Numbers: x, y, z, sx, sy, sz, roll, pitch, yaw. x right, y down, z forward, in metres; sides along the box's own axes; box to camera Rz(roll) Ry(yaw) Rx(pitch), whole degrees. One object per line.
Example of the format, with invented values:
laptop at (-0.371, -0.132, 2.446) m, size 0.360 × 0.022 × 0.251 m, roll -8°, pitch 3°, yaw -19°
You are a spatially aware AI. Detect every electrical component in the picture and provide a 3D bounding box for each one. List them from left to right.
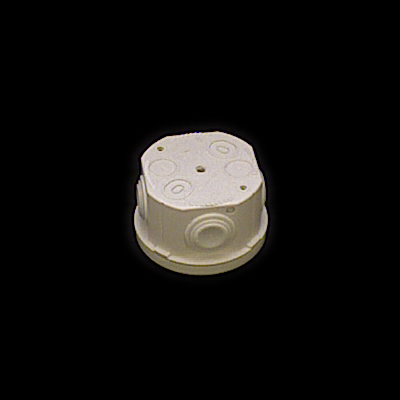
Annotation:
electrical component at (0.000, 0.000, 0.635) m, size 0.080 × 0.051 × 0.080 m, roll 0°, pitch 42°, yaw 0°
